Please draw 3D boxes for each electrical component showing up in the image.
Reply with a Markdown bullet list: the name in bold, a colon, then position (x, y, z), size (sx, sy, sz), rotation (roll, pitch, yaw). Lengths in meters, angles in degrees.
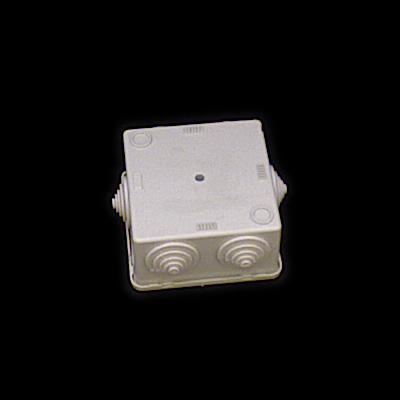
- **electrical component**: position (0.000, 0.000, 0.633), size (0.100, 0.099, 0.049), rotation (-5, -37, -4)
